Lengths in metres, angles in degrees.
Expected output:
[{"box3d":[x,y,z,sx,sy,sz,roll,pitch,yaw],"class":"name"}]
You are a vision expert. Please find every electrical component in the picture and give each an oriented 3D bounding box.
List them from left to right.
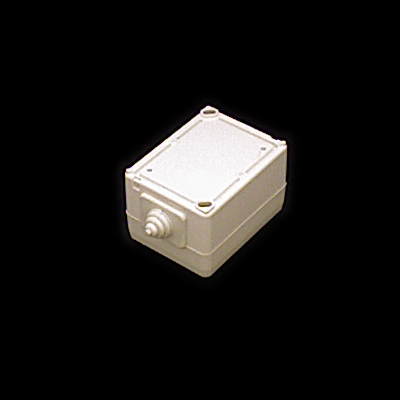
[{"box3d":[0.000,0.000,0.631,0.061,0.061,0.096,27,49,27],"class":"electrical component"}]
